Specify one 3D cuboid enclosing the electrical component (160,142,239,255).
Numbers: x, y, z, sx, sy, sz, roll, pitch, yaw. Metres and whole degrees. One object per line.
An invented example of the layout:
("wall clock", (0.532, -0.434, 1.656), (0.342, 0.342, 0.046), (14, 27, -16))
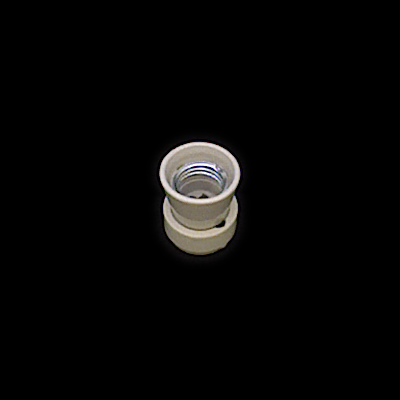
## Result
("electrical component", (0.000, 0.000, 0.628), (0.045, 0.044, 0.055), (0, -38, 1))
